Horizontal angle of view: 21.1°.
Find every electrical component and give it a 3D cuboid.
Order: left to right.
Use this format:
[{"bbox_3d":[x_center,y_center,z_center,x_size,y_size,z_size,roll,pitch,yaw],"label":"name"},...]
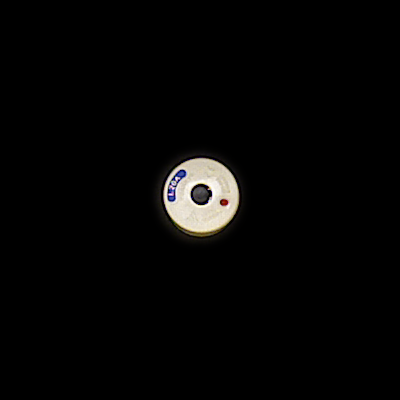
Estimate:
[{"bbox_3d":[0.000,0.000,0.617,0.040,0.040,0.078,0,-6,0],"label":"electrical component"}]
